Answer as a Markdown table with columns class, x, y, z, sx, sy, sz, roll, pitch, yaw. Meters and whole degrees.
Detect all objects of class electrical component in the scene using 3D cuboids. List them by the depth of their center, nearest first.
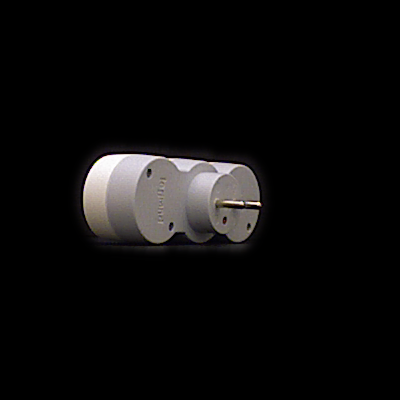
| class | x | y | z | sx | sy | sz | roll | pitch | yaw |
| --- | --- | --- | --- | --- | --- | --- | --- | --- | --- |
| electrical component | 0.000 | 0.000 | 0.653 | 0.073 | 0.052 | 0.138 | 4 | 1 | 34 |
